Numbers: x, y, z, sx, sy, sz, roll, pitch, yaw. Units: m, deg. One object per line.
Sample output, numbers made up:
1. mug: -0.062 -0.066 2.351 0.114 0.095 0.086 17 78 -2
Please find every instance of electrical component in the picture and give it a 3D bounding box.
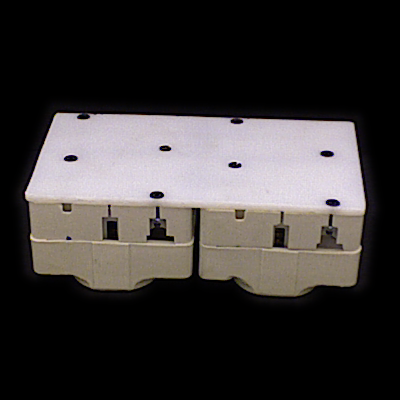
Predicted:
1. electrical component: 0.000 0.000 0.634 0.186 0.061 0.104 2 31 2
